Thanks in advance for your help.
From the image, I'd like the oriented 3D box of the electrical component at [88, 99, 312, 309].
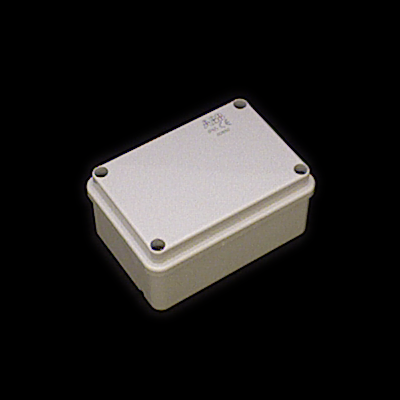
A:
[{"bbox_3d":[0.000,0.000,0.629,0.113,0.077,0.057,-28,-33,-20],"label":"electrical component"}]
